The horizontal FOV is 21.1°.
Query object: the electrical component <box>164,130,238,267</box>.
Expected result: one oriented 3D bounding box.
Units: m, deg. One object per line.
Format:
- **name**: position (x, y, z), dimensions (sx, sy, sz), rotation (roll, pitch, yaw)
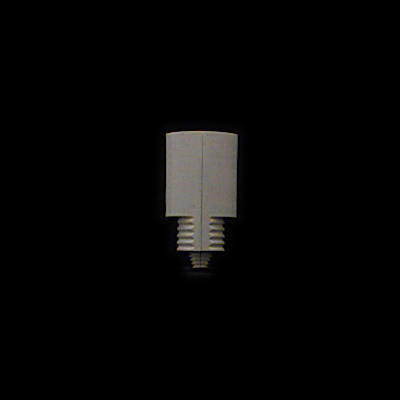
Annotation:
- **electrical component**: position (0.000, 0.000, 0.651), dimensions (0.043, 0.081, 0.043), rotation (2, 1, 0)
